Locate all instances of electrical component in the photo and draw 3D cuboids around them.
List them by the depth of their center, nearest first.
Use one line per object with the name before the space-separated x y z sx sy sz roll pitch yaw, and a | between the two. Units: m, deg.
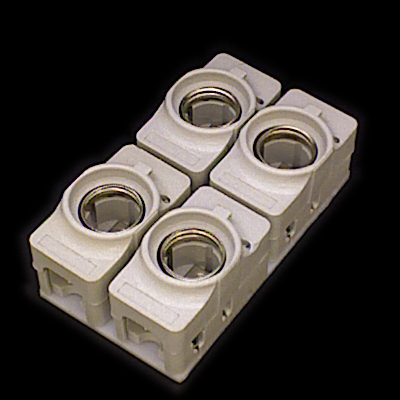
electrical component | 0.000 0.000 0.628 0.105 0.186 0.060 30 -32 21
